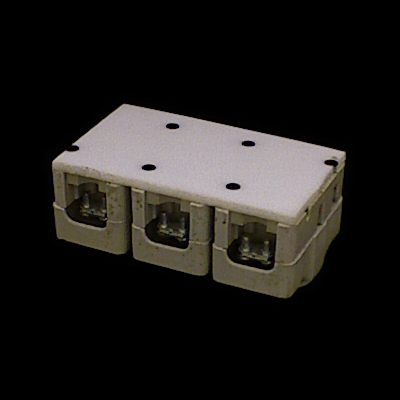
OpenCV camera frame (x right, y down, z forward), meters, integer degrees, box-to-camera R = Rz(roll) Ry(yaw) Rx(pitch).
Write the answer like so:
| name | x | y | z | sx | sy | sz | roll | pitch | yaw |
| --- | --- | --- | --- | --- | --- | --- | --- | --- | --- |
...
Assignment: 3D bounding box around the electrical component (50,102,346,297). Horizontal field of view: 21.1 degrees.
| name | x | y | z | sx | sy | sz | roll | pitch | yaw |
| --- | --- | --- | --- | --- | --- | --- | --- | --- | --- |
| electrical component | 0.000 | 0.000 | 0.640 | 0.149 | 0.063 | 0.088 | 14 | 33 | 21 |
